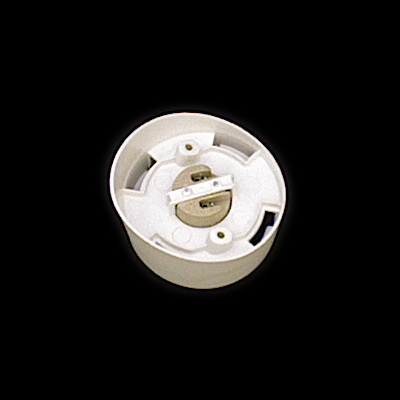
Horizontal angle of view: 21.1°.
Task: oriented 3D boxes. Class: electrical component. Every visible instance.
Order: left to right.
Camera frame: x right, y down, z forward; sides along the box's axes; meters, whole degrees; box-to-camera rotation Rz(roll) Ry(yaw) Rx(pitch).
[{"bbox_3d":[0.000,0.000,0.624,0.099,0.099,0.064,0,-27,0],"label":"electrical component"}]
